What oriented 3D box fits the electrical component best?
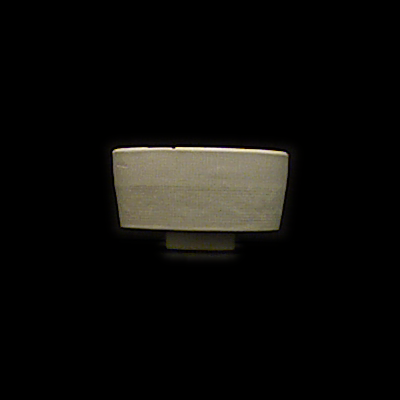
[{"bbox_3d":[0.001,0.000,0.660,0.108,0.060,0.108,1,1,1],"label":"electrical component"}]
